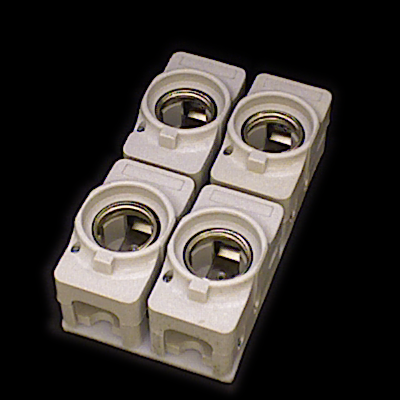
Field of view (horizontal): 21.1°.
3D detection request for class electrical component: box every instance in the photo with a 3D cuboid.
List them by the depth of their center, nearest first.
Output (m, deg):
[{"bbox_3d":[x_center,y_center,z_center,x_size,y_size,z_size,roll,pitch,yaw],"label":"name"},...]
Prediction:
[{"bbox_3d":[0.000,0.000,0.627,0.105,0.186,0.060,17,-36,12],"label":"electrical component"}]
